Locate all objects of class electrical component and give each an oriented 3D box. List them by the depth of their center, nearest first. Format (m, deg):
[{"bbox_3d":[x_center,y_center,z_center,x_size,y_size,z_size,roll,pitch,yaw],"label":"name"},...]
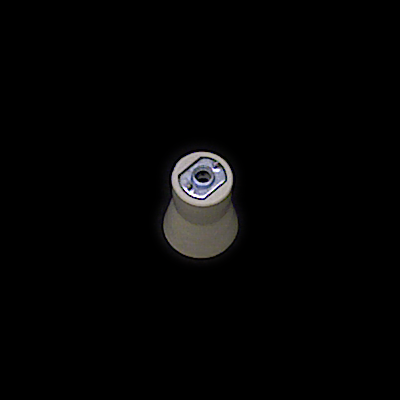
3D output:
[{"bbox_3d":[0.000,0.000,0.624,0.044,0.044,0.065,0,-27,-1],"label":"electrical component"}]
